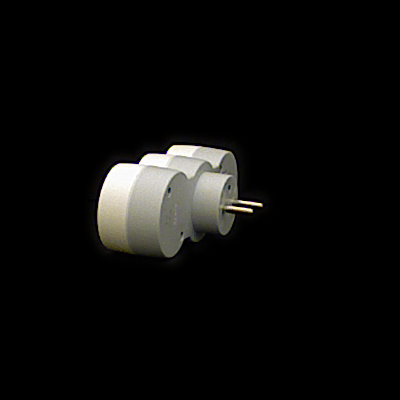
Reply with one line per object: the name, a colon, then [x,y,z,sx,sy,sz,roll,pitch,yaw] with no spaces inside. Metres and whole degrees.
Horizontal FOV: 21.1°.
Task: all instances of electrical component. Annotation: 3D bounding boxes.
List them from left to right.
electrical component: [0.000,0.000,0.649,0.073,0.052,0.138,7,12,19]
